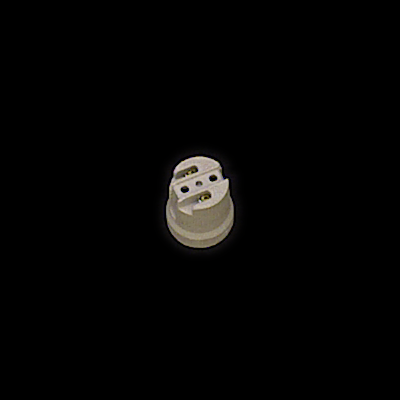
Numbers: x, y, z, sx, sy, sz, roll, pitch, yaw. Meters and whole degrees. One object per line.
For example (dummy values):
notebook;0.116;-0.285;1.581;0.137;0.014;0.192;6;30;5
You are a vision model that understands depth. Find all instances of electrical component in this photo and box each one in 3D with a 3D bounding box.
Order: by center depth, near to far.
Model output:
electrical component;0.000;0.000;0.633;0.040;0.040;0.046;0;-27;0
